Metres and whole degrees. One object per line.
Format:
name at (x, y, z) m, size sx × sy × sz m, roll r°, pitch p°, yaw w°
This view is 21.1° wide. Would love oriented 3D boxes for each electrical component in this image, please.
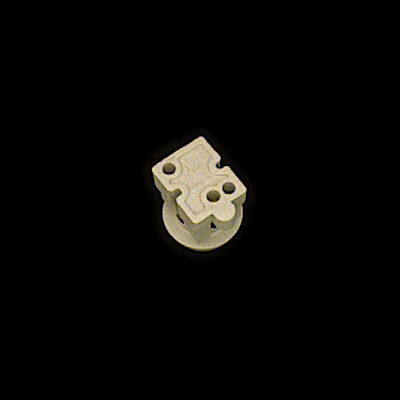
electrical component at (0.000, 0.000, 0.637) m, size 0.048 × 0.066 × 0.055 m, roll -33°, pitch -23°, yaw -14°
